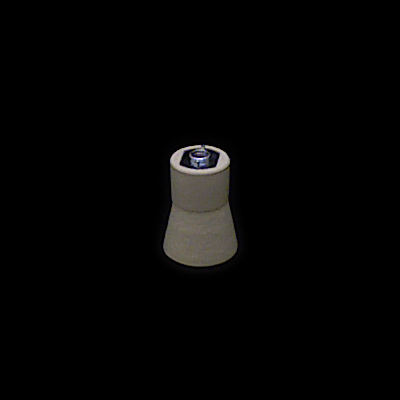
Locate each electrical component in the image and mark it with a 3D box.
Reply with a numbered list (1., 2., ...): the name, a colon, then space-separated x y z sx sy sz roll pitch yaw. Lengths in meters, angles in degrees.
1. electrical component: 0.000 0.000 0.634 0.044 0.066 0.044 0 32 0
